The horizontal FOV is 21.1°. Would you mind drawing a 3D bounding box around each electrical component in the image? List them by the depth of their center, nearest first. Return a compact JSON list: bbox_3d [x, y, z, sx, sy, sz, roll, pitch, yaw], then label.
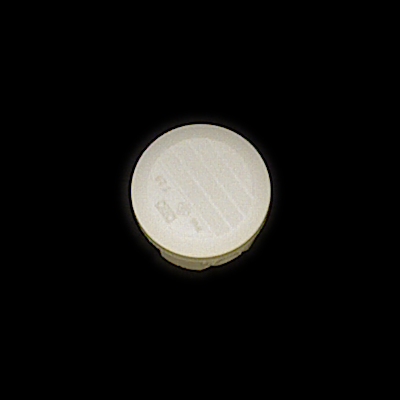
[{"bbox_3d":[0.000,0.000,0.630,0.080,0.080,0.050,0,-17,0],"label":"electrical component"}]
